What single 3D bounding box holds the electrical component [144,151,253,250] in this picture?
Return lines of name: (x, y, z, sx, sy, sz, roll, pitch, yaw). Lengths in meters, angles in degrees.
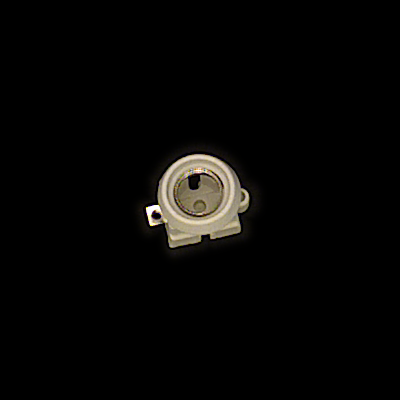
electrical component: (0.000, 0.000, 0.637, 0.066, 0.048, 0.055, -14, -18, -4)
